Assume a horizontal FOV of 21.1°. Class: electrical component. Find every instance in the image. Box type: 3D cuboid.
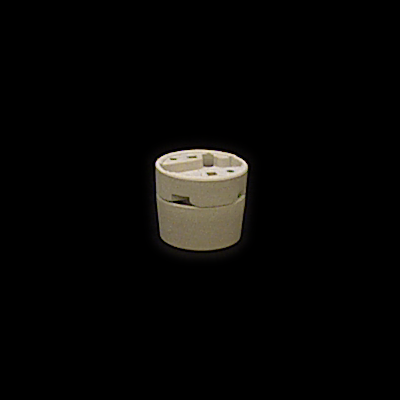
[{"bbox_3d":[0.000,0.000,0.643,0.055,0.047,0.055,1,22,0],"label":"electrical component"}]
